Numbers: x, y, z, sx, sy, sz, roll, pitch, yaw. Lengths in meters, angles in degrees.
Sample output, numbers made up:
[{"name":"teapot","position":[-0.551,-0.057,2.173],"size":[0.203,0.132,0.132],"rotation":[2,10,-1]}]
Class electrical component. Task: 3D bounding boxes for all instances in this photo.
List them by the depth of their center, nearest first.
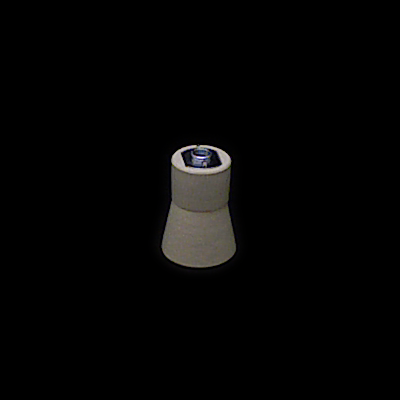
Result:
[{"name":"electrical component","position":[0.000,0.000,0.633],"size":[0.044,0.066,0.044],"rotation":[2,31,-1]}]
